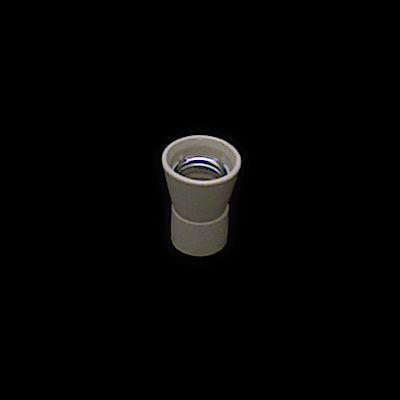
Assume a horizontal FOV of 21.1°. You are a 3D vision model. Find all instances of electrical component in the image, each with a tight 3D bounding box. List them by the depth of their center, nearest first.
[{"bbox_3d":[0.000,0.000,0.631,0.044,0.066,0.044,1,41,-1],"label":"electrical component"}]
